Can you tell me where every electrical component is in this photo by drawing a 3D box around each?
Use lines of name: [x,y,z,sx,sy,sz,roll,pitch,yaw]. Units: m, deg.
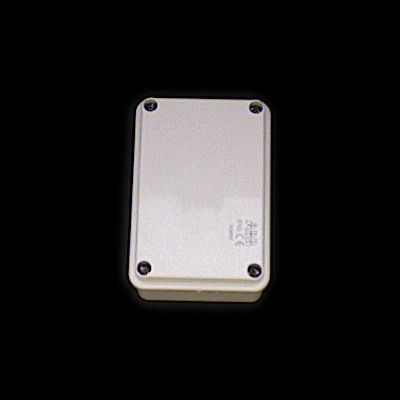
electrical component: [0.000,0.000,0.627,0.078,0.113,0.057,1,-17,1]
